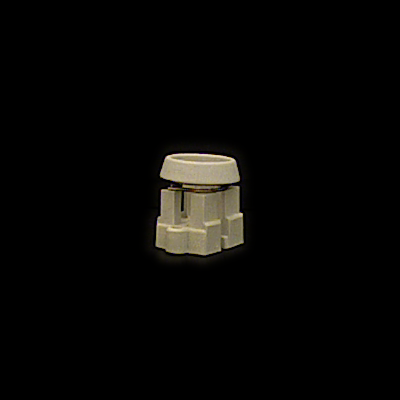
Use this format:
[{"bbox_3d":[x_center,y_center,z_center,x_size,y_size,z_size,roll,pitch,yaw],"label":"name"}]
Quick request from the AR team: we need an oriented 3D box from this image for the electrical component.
[{"bbox_3d":[0.000,0.000,0.653,0.048,0.056,0.067,11,15,32],"label":"electrical component"}]
